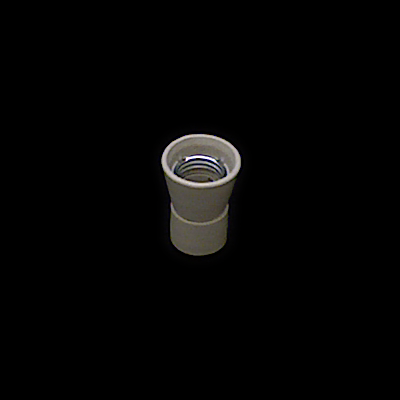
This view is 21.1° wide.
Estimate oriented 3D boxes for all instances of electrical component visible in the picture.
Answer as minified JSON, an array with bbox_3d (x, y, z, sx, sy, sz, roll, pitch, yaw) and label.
[{"bbox_3d":[0.000,0.000,0.628,0.044,0.066,0.044,1,43,-1],"label":"electrical component"}]
